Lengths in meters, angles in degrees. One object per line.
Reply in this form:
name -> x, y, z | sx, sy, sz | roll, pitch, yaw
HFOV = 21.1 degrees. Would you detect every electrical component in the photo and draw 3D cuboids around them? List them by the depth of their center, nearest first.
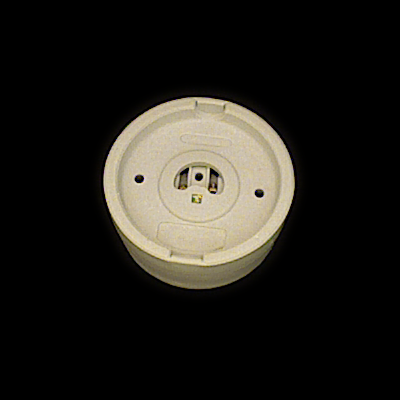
electrical component -> 0.000, 0.000, 0.632 | 0.108, 0.108, 0.060 | 0, -27, 0
